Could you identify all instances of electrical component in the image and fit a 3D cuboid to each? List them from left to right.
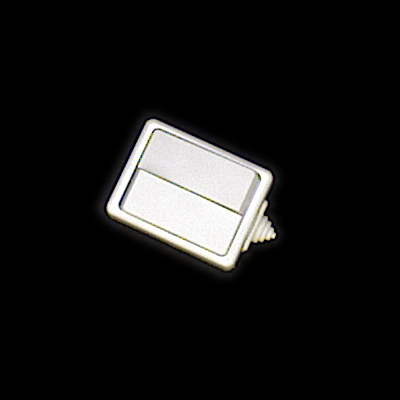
[{"bbox_3d":[0.000,0.000,0.627,0.096,0.062,0.061,25,-6,3],"label":"electrical component"}]
